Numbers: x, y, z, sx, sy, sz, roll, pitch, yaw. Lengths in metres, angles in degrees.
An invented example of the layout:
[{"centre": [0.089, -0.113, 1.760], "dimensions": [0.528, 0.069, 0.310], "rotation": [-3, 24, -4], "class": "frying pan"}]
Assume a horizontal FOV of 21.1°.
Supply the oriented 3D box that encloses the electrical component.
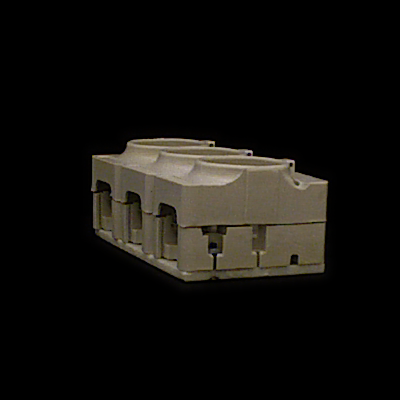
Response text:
[{"centre": [0.000, 0.000, 0.652], "dimensions": [0.089, 0.062, 0.148], "rotation": [-3, 11, -25], "class": "electrical component"}]
